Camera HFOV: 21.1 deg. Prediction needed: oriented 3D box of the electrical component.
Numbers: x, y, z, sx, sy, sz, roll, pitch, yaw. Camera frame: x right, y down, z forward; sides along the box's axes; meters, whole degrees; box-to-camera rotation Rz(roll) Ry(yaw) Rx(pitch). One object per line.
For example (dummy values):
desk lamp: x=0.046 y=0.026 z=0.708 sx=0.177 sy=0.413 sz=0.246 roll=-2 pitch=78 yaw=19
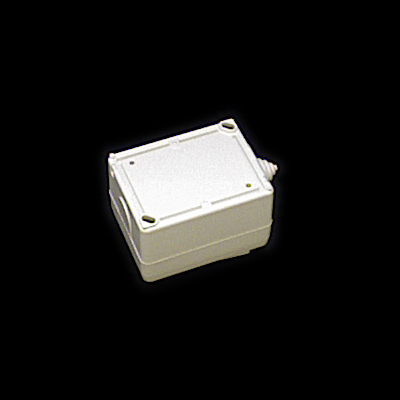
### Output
electrical component: x=0.000 y=0.000 z=0.631 sx=0.096 sy=0.061 sz=0.061 roll=-17 pitch=-37 yaw=-14
